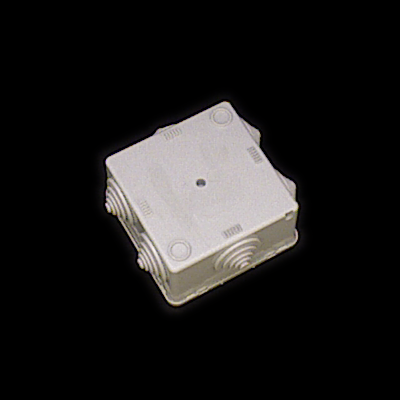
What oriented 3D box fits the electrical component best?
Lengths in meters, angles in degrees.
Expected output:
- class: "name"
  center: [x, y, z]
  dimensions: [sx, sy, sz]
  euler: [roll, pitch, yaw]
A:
- class: "electrical component"
  center: [0.000, 0.000, 0.631]
  dimensions: [0.100, 0.099, 0.048]
  euler: [-27, -24, -13]
